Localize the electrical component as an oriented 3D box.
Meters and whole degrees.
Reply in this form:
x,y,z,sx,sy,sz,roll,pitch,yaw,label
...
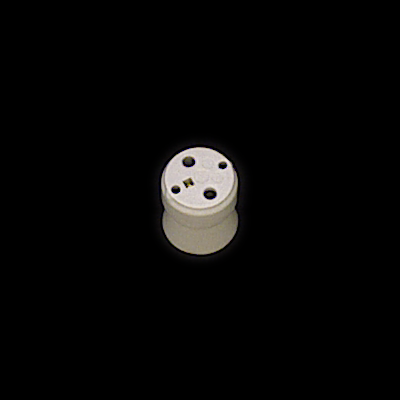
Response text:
x,y,z,sx,sy,sz,roll,pitch,yaw,label
0.000,0.000,0.629,0.045,0.045,0.055,0,-27,0,electrical component
